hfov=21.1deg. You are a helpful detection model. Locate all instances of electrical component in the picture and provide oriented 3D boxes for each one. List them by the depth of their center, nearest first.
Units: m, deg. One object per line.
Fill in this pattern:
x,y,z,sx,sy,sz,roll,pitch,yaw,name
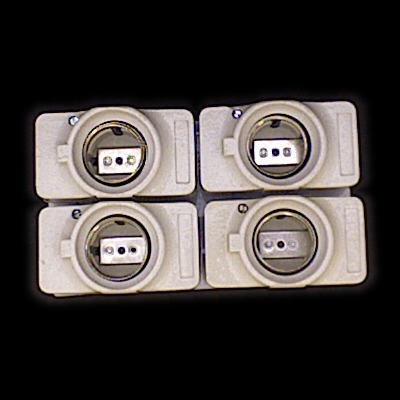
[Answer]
0.000,0.000,0.626,0.186,0.106,0.060,-2,-7,0,electrical component
